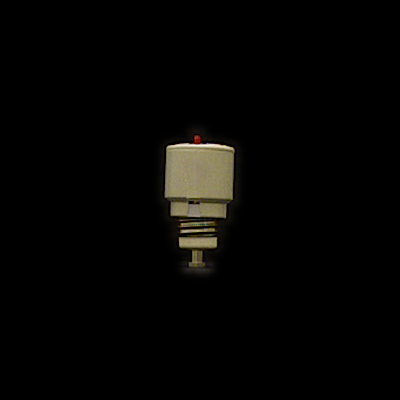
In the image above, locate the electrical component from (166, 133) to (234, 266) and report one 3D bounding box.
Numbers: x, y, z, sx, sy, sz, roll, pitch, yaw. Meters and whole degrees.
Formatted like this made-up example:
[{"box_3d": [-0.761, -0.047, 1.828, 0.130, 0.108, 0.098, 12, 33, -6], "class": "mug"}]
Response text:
[{"box_3d": [0.000, 0.000, 0.647, 0.040, 0.078, 0.040, 1, 1, 0], "class": "electrical component"}]
